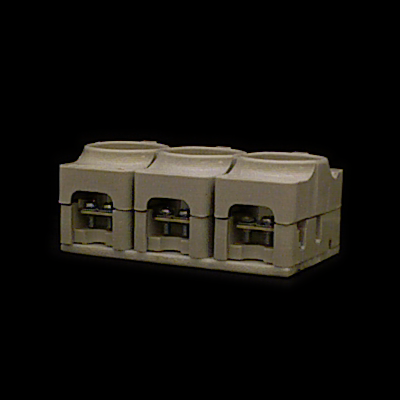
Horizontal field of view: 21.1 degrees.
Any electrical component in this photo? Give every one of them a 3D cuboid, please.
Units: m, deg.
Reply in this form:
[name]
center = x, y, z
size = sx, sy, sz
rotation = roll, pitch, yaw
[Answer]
[electrical component]
center = 0.000, 0.000, 0.652
size = 0.149, 0.062, 0.089
rotation = 6, 11, 24
